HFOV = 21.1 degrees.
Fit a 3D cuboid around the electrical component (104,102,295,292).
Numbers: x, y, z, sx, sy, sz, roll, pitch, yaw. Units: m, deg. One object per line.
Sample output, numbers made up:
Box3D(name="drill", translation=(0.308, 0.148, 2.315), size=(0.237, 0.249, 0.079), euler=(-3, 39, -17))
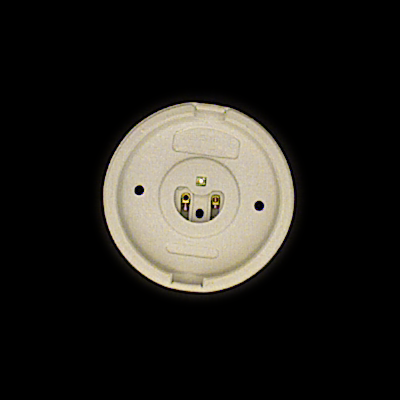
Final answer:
Box3D(name="electrical component", translation=(0.000, 0.000, 0.635), size=(0.108, 0.108, 0.060), euler=(0, -5, 0))
